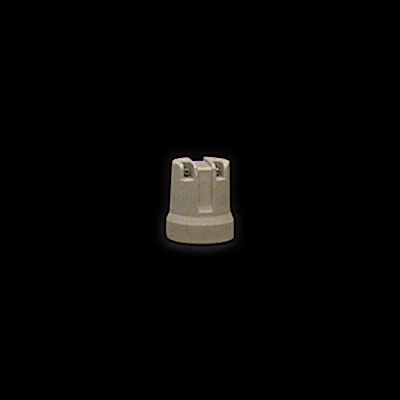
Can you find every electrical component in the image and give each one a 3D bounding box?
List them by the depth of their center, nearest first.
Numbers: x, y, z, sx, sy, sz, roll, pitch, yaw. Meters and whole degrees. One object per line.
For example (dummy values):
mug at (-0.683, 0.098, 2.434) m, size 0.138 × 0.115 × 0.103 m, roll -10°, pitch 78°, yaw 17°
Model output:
electrical component at (0.000, 0.000, 0.644) m, size 0.040 × 0.046 × 0.040 m, roll 1°, pitch 11°, yaw 0°
